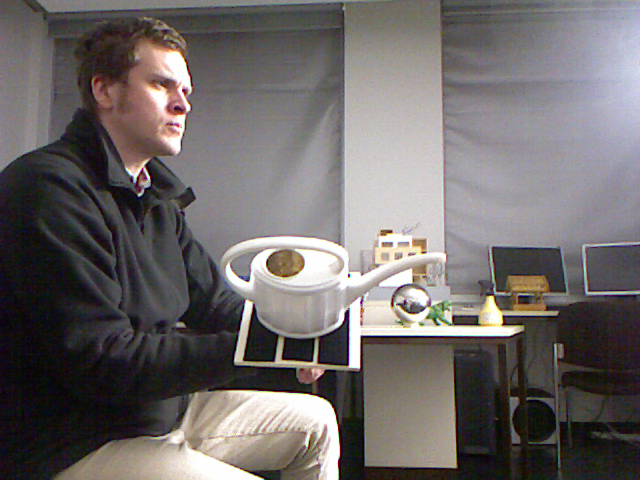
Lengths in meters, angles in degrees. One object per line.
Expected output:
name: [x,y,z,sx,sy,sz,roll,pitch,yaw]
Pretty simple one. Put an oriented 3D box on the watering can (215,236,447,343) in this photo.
watering can: [0.011,0.077,0.817,0.349,0.107,0.219,3,-41,3]
